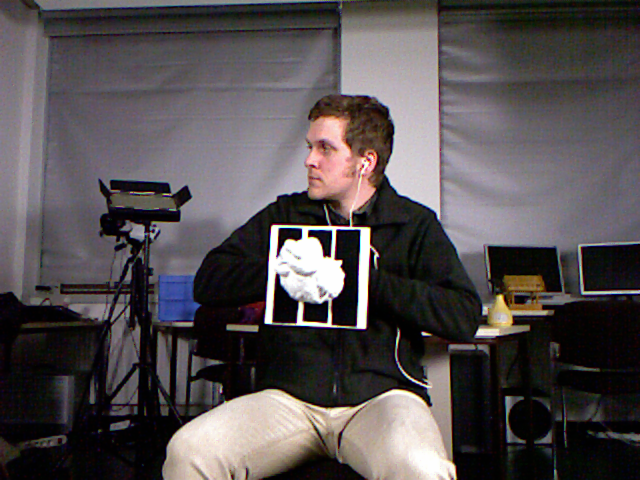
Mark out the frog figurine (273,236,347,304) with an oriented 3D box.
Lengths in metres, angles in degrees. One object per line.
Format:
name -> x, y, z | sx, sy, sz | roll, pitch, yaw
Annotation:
frog figurine -> -0.022, 0.058, 0.960 | 0.138, 0.123, 0.159 | 25, -4, 13
